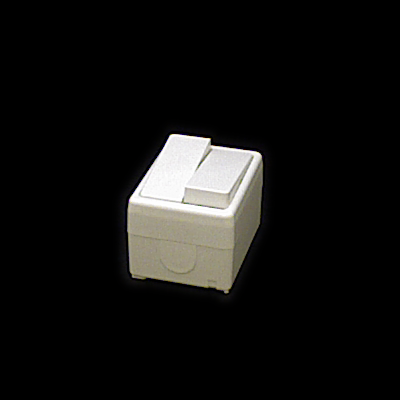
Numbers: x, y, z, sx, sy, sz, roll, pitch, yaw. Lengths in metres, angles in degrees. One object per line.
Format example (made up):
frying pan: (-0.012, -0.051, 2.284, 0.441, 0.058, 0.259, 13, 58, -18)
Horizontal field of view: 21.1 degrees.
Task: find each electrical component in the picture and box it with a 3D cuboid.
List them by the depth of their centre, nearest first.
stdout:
electrical component: (0.000, 0.000, 0.637, 0.061, 0.061, 0.095, 9, 32, 13)
